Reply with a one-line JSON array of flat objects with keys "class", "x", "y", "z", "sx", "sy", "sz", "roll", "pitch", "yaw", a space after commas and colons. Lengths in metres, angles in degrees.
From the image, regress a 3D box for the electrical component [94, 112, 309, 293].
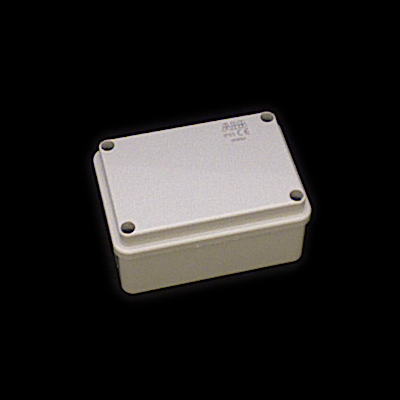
[{"class": "electrical component", "x": 0.000, "y": 0.000, "z": 0.630, "sx": 0.113, "sy": 0.077, "sz": 0.057, "roll": -11, "pitch": -37, "yaw": -9}]
